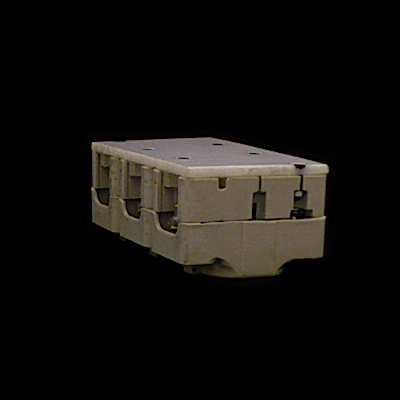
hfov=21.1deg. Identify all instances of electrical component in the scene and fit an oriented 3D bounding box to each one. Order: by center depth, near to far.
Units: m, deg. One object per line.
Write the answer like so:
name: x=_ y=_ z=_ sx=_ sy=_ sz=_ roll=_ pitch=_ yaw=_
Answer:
electrical component: x=0.000 y=0.000 z=0.652 sx=0.090 sy=0.062 sz=0.148 roll=-3 pitch=10 yaw=-25
